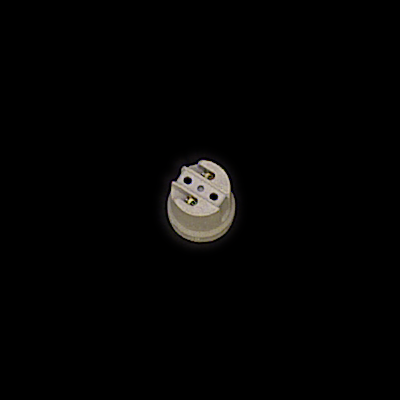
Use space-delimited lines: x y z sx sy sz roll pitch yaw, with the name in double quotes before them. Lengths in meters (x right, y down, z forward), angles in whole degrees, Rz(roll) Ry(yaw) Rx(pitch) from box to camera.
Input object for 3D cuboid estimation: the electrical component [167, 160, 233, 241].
"electrical component" 0.000 0.000 0.633 0.040 0.040 0.046 0 -17 0
